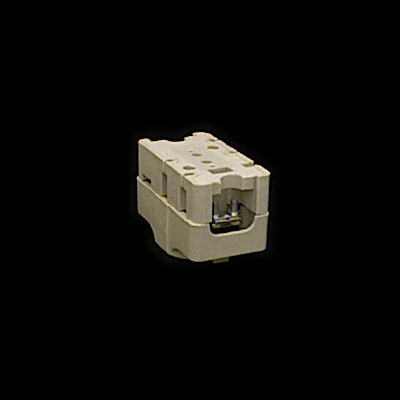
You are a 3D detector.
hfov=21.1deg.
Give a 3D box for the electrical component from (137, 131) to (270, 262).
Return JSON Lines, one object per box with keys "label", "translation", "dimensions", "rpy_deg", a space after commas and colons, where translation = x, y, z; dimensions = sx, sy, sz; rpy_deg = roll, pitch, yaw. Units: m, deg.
{"label": "electrical component", "translation": [0.000, 0.000, 0.647], "dimensions": [0.050, 0.056, 0.088], "rpy_deg": [-9, 24, -24]}
